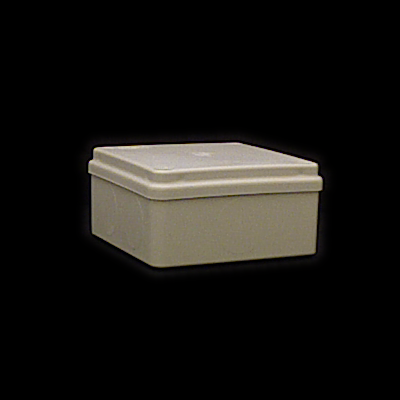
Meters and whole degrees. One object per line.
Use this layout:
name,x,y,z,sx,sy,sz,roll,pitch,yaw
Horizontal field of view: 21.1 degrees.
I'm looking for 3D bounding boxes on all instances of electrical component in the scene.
electrical component,0.000,0.000,0.644,0.109,0.056,0.108,-4,12,-25
